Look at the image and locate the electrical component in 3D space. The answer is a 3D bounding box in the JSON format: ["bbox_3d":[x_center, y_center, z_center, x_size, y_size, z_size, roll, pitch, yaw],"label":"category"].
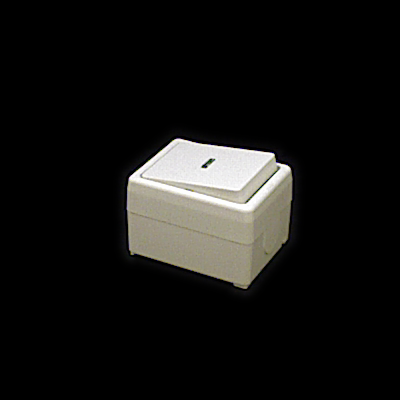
[{"bbox_3d":[0.000,0.000,0.635,0.096,0.061,0.061,15,34,22],"label":"electrical component"}]
